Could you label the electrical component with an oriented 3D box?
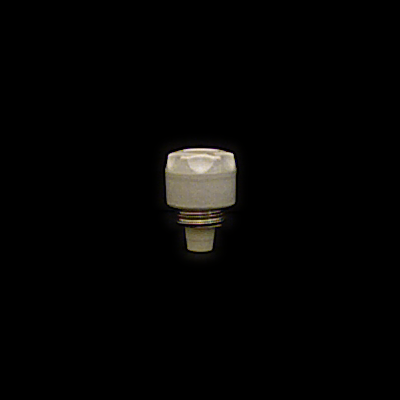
[{"bbox_3d":[0.000,0.000,0.651,0.043,0.062,0.043,1,12,0],"label":"electrical component"}]
